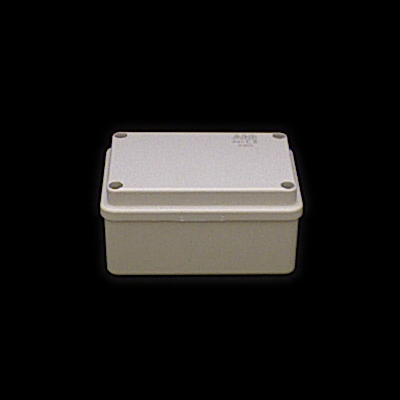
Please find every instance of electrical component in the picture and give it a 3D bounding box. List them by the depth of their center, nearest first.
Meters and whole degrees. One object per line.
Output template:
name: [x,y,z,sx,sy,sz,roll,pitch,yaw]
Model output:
electrical component: [0.000,0.000,0.637,0.113,0.058,0.077,0,31,-2]
